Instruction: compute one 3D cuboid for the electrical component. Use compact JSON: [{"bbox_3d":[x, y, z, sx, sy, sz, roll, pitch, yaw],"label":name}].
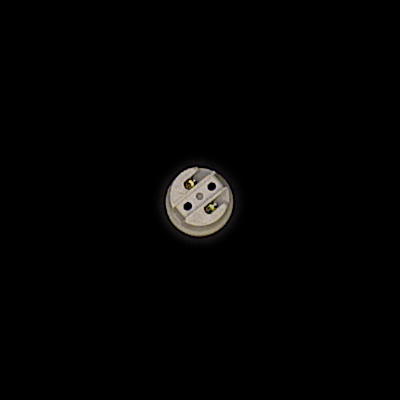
[{"bbox_3d":[0.000,0.000,0.634,0.040,0.040,0.046,0,-5,0],"label":"electrical component"}]
